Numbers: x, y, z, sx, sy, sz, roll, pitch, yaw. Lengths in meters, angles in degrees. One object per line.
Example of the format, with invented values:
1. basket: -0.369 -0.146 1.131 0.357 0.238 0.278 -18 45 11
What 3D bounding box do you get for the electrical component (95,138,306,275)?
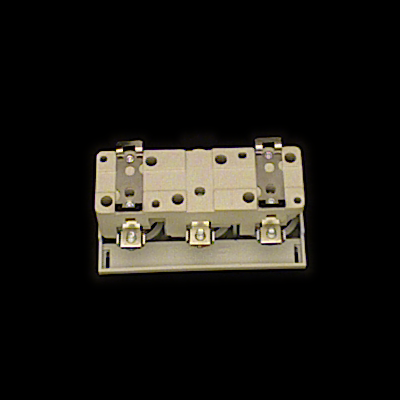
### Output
1. electrical component: 0.000 0.000 0.635 0.121 0.078 0.063 -2 -27 -1
